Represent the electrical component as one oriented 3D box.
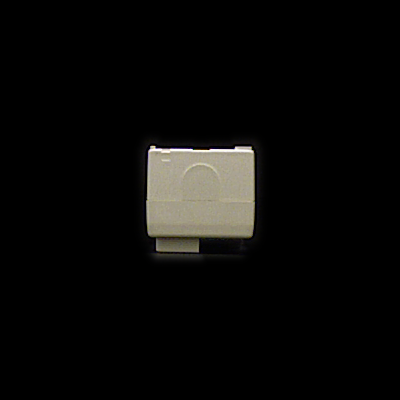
[{"bbox_3d":[0.001,0.000,0.658,0.062,0.061,0.096,1,0,0],"label":"electrical component"}]
